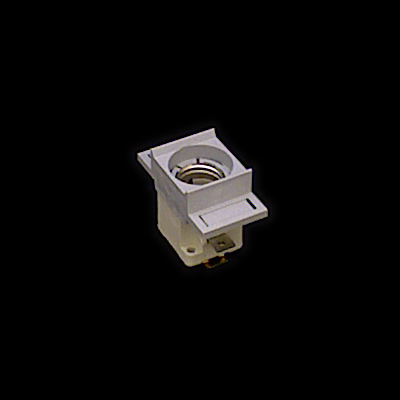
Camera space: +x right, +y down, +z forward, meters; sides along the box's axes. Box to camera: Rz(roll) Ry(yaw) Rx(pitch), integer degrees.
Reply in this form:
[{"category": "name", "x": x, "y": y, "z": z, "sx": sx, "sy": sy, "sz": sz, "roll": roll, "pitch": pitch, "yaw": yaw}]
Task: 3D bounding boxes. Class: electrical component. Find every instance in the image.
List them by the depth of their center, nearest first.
[{"category": "electrical component", "x": 0.000, "y": 0.000, "z": 0.627, "sx": 0.042, "sy": 0.064, "sz": 0.080, "roll": -19, "pitch": 45, "yaw": -22}]
